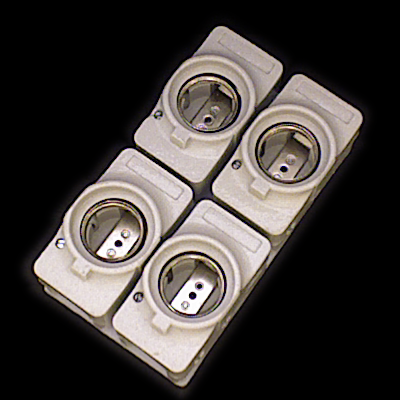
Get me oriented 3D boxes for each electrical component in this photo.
[{"bbox_3d":[0.000,0.000,0.625,0.105,0.187,0.060,34,-14,10],"label":"electrical component"}]
